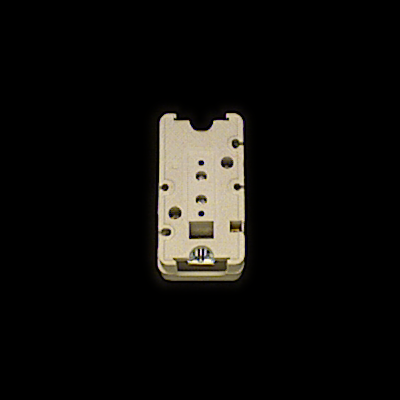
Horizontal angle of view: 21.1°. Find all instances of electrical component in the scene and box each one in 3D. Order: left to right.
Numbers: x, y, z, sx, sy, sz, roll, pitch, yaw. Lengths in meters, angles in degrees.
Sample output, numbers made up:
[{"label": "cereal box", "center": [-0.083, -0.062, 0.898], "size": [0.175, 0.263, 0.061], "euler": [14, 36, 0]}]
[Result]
[{"label": "electrical component", "center": [0.000, 0.000, 0.636], "size": [0.050, 0.090, 0.055], "euler": [0, -16, 0]}]
